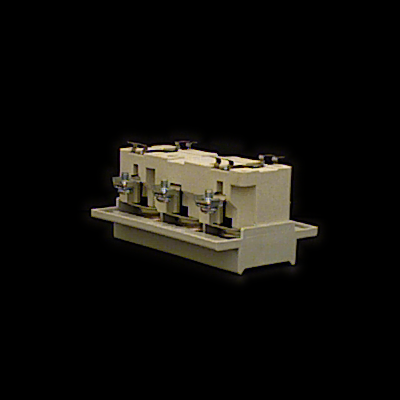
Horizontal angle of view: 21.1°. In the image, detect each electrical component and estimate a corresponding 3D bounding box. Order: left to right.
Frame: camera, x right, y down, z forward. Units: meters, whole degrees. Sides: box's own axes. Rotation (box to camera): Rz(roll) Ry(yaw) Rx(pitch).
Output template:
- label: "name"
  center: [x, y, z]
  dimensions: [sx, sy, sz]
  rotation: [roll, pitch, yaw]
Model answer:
- label: "electrical component"
  center: [0.000, 0.000, 0.654]
  dimensions: [0.079, 0.063, 0.120]
  rotation: [-7, 14, -40]
